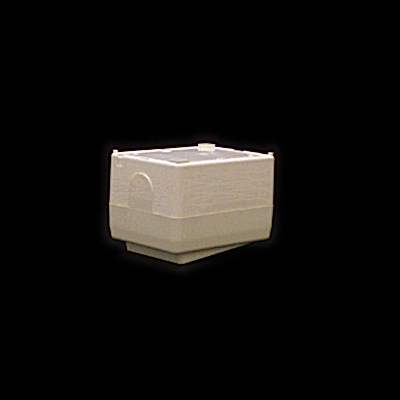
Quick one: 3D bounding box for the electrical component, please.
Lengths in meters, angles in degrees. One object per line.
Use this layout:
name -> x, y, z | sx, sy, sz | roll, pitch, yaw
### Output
electrical component -> 0.000, 0.000, 0.644 | 0.096, 0.061, 0.061 | -8, 14, -43
